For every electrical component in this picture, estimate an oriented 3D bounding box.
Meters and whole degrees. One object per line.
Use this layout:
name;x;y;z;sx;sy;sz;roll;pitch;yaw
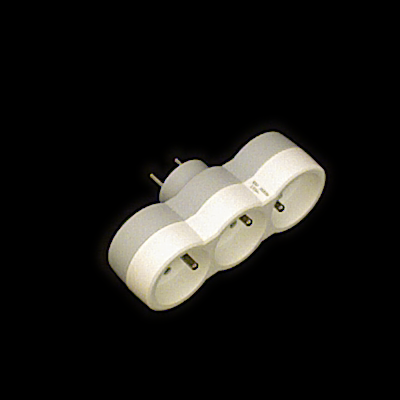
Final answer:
electrical component;0.000;0.000;0.641;0.139;0.052;0.073;-33;58;-23
